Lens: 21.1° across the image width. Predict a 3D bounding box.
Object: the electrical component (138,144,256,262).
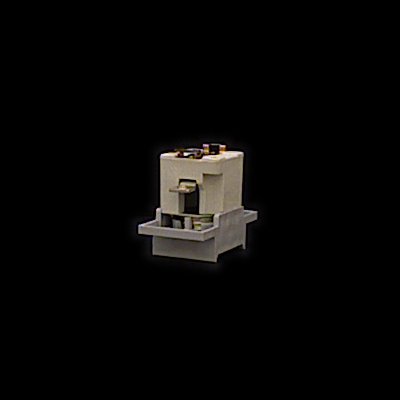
[{"bbox_3d":[0.000,0.000,0.645,0.042,0.064,0.080,6,12,24],"label":"electrical component"}]
